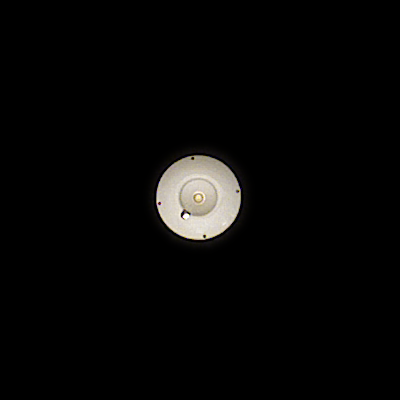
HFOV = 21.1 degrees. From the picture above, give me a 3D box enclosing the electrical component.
[{"bbox_3d":[0.000,0.000,0.634,0.048,0.048,0.061,0,-6,1],"label":"electrical component"}]
